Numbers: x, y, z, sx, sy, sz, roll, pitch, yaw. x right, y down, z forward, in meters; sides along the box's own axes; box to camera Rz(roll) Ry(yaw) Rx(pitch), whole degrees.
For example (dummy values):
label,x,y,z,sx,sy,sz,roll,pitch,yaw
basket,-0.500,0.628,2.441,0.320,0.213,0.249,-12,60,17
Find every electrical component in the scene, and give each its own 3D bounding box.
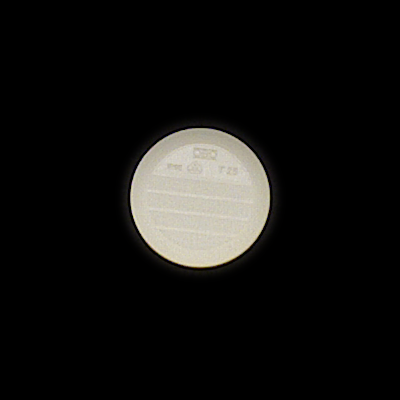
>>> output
label,x,y,z,sx,sy,sz,roll,pitch,yaw
electrical component,0.000,0.000,0.631,0.080,0.080,0.050,0,-6,0
